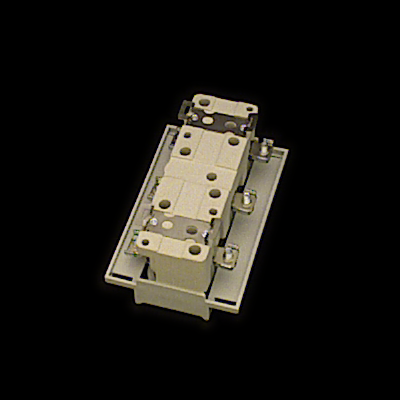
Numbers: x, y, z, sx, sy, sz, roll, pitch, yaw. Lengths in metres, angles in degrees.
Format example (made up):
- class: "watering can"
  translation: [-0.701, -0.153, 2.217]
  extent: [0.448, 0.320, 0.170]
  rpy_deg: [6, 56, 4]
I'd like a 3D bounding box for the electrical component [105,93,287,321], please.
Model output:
- class: "electrical component"
  translation: [0.000, 0.000, 0.635]
  extent: [0.078, 0.121, 0.063]
  rpy_deg: [12, -36, 10]
